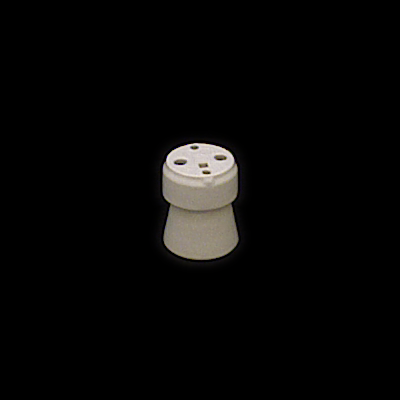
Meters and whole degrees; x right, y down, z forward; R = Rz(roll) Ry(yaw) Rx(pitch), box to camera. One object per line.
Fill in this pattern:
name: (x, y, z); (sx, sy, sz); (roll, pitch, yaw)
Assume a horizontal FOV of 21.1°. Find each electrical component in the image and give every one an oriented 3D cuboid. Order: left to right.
electrical component: (0.000, 0.000, 0.635); (0.045, 0.056, 0.044); (0, 31, 0)
